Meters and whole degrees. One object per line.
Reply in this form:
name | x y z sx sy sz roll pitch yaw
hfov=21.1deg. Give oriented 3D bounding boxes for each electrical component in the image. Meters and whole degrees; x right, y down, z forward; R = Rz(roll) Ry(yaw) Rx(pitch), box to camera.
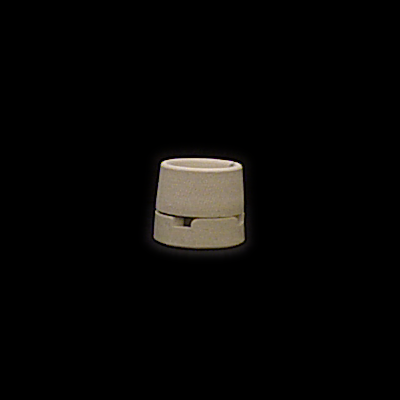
electrical component | 0.000 0.000 0.646 0.055 0.047 0.055 2 11 0
